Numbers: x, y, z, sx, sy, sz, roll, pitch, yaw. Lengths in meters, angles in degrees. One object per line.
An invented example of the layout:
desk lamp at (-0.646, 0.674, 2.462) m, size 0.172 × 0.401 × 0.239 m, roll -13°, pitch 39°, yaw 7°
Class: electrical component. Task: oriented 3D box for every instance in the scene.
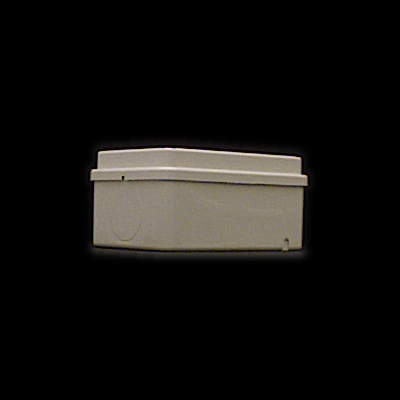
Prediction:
electrical component at (0.000, 0.000, 0.647) m, size 0.113 × 0.057 × 0.078 m, roll 2°, pitch 0°, yaw -40°
